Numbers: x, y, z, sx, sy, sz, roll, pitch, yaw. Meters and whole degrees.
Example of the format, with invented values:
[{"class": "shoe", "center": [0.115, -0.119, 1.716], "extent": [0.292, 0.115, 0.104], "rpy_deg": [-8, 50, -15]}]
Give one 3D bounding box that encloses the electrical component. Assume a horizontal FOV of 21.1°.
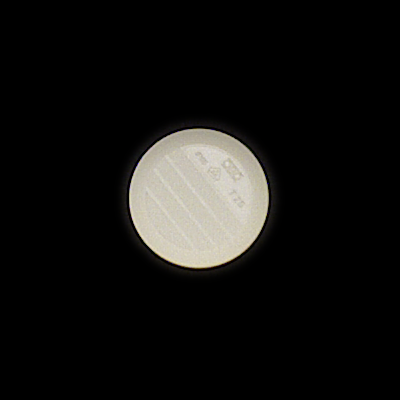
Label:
[{"class": "electrical component", "center": [0.000, 0.000, 0.631], "extent": [0.080, 0.080, 0.050], "rpy_deg": [0, -6, 0]}]
